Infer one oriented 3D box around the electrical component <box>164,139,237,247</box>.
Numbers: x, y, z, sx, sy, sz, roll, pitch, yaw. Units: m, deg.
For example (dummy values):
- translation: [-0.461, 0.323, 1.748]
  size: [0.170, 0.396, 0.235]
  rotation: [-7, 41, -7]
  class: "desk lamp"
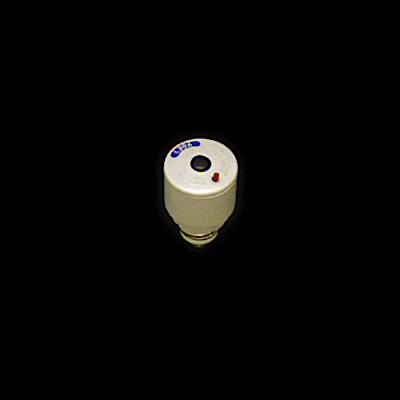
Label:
- translation: [0.000, 0.000, 0.619]
  size: [0.040, 0.040, 0.078]
  rotation: [0, -37, -1]
  class: "electrical component"
